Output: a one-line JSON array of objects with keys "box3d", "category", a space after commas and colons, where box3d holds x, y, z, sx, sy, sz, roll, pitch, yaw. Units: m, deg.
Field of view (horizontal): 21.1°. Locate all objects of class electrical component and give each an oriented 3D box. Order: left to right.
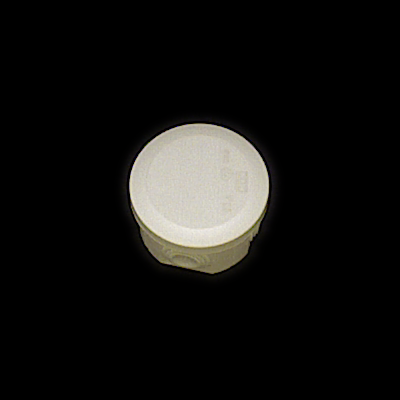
[{"box3d": [0.000, 0.000, 0.629, 0.080, 0.080, 0.050, 0, -27, 0], "category": "electrical component"}]
